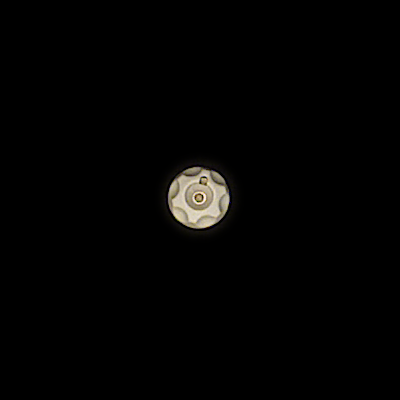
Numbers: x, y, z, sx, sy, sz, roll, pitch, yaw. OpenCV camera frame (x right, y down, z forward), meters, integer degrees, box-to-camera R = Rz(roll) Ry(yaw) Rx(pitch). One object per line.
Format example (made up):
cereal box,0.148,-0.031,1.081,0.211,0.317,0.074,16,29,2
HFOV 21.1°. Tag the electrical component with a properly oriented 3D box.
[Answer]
electrical component,0.000,0.000,0.635,0.035,0.035,0.061,0,-6,0
